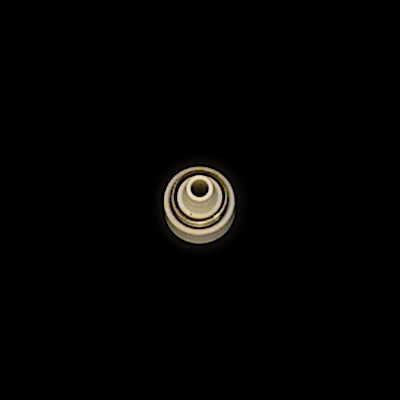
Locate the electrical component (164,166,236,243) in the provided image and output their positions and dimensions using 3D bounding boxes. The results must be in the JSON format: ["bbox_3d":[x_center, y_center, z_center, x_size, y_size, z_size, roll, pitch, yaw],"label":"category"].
[{"bbox_3d":[0.000,0.000,0.633,0.043,0.043,0.061,0,-15,0],"label":"electrical component"}]
